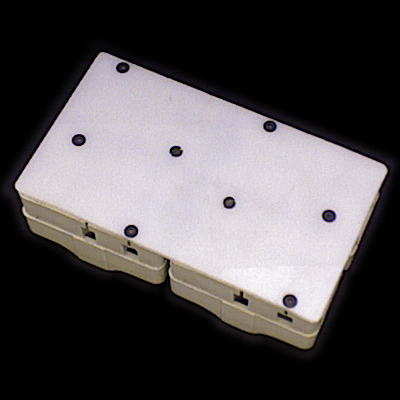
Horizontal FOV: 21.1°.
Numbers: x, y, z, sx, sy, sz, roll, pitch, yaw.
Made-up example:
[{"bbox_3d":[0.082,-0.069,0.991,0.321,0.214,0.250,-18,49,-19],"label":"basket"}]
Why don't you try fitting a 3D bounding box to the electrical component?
[{"bbox_3d":[0.000,0.000,0.625,0.186,0.106,0.060,23,-25,11],"label":"electrical component"}]
